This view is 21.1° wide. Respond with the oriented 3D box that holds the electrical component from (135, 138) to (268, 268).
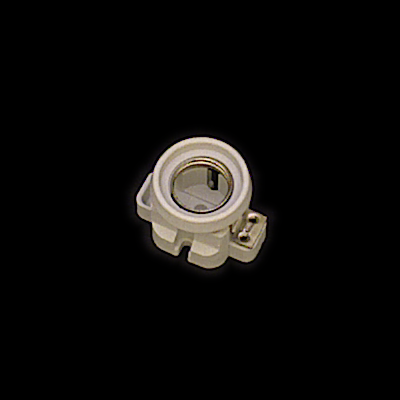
[{"bbox_3d":[0.000,0.000,0.629,0.078,0.058,0.057,23,-25,11],"label":"electrical component"}]
